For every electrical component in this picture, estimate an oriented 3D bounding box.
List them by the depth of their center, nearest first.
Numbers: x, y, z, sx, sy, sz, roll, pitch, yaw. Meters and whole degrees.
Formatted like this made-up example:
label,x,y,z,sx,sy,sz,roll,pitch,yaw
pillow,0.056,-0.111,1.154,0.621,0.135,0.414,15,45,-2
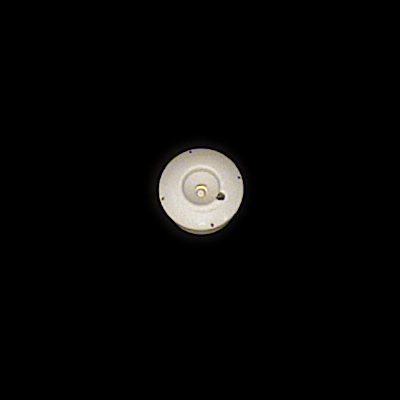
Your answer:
label,x,y,z,sx,sy,sz,roll,pitch,yaw
electrical component,0.000,0.000,0.634,0.048,0.048,0.062,0,-16,1
